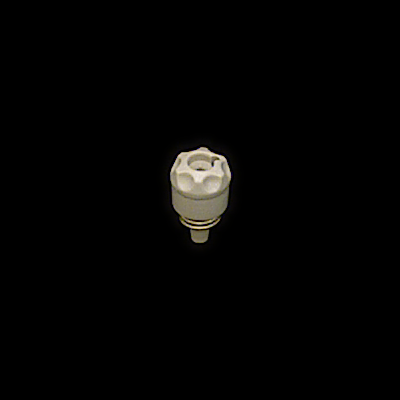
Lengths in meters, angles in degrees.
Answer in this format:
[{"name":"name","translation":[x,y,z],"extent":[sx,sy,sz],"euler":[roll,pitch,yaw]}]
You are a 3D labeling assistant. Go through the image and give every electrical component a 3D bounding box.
[{"name":"electrical component","translation":[0.000,0.000,0.638],"extent":[0.035,0.062,0.035],"euler":[1,43,0]}]
